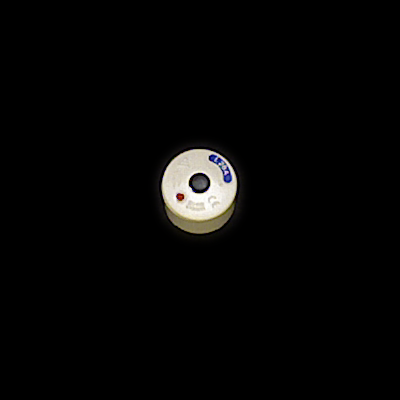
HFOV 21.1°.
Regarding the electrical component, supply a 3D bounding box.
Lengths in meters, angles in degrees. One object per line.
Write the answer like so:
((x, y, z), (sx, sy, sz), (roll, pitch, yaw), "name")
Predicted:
((0.000, 0.000, 0.617), (0.040, 0.040, 0.078), (0, -16, 1), "electrical component")
